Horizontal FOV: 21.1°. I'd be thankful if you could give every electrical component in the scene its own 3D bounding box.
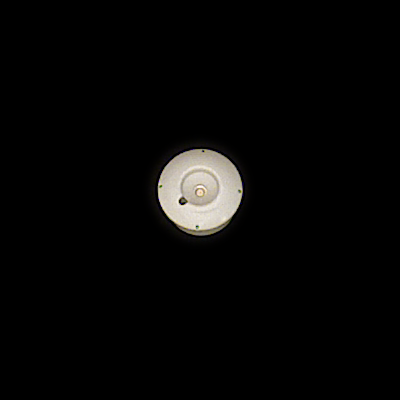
[{"bbox_3d":[0.000,0.000,0.632,0.048,0.048,0.061,0,-16,1],"label":"electrical component"}]
